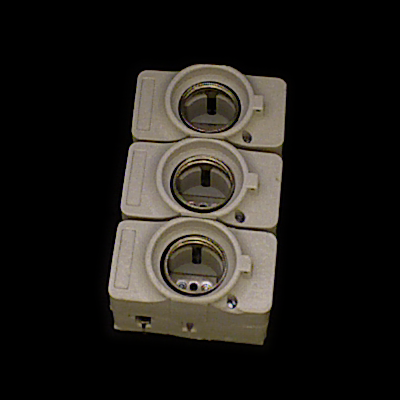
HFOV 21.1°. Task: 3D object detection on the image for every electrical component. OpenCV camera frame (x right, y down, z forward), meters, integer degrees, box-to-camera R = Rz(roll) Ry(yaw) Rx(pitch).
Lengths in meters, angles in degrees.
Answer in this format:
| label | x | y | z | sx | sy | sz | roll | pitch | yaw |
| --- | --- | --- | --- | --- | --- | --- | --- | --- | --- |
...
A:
| label | x | y | z | sx | sy | sz | roll | pitch | yaw |
| --- | --- | --- | --- | --- | --- | --- | --- | --- | --- |
| electrical component | 0.000 | 0.000 | 0.631 | 0.089 | 0.149 | 0.062 | 5 | -26 | 2 |
